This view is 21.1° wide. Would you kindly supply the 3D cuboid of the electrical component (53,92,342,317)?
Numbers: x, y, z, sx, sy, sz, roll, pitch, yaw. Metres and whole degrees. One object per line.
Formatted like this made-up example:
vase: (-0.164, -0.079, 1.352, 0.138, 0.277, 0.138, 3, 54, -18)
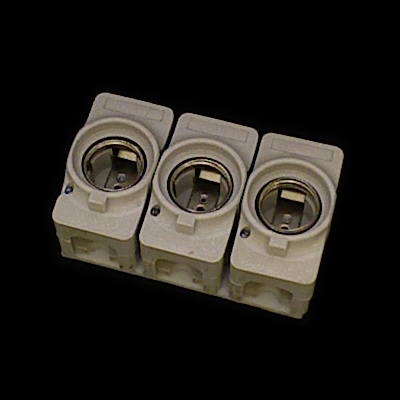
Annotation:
electrical component: (0.000, 0.000, 0.631, 0.150, 0.089, 0.062, 13, -26, 7)
